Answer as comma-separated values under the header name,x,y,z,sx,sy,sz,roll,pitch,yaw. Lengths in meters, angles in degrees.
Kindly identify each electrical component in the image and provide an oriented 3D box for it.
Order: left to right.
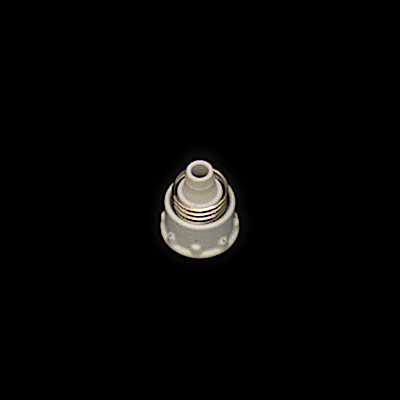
name,x,y,z,sx,sy,sz,roll,pitch,yaw
electrical component,0.000,0.000,0.634,0.048,0.048,0.062,0,-36,0
